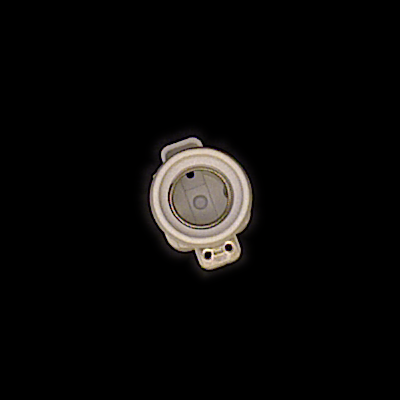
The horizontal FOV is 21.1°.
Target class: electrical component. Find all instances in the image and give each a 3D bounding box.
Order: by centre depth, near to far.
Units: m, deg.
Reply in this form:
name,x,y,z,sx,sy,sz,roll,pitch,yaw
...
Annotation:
name,x,y,z,sx,sy,sz,roll,pitch,yaw
electrical component,0.000,0.000,0.629,0.058,0.078,0.056,-20,-6,-2
